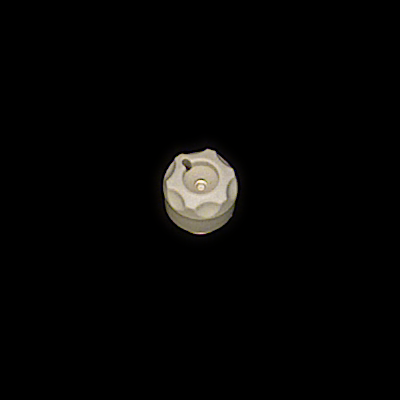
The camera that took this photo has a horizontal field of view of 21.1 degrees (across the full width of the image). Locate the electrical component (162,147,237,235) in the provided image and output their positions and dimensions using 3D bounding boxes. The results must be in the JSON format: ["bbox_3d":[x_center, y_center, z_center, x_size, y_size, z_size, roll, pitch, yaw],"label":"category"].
[{"bbox_3d":[0.000,0.000,0.634,0.043,0.043,0.062,0,-26,0],"label":"electrical component"}]
